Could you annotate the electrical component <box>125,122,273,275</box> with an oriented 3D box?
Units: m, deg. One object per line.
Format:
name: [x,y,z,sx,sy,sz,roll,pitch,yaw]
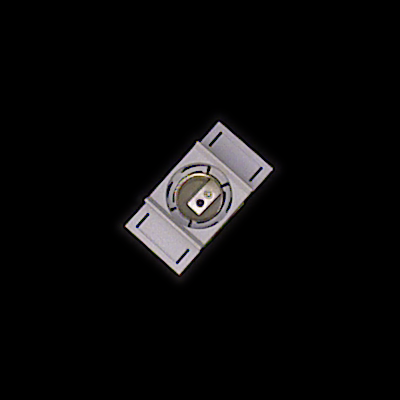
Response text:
electrical component: [0.000,0.000,0.624,0.042,0.081,0.063,42,-4,5]
